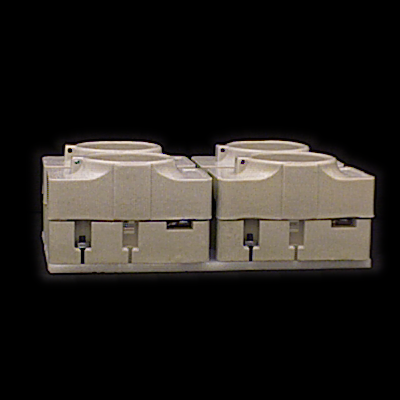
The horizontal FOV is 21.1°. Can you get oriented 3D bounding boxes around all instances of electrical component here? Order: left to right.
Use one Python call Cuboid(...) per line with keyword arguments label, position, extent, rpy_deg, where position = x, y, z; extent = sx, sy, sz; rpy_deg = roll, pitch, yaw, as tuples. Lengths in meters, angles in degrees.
Cuboid(label="electrical component", position=(0.000, 0.000, 0.643), extent=(0.186, 0.061, 0.104), rpy_deg=(-1, 10, -10))
